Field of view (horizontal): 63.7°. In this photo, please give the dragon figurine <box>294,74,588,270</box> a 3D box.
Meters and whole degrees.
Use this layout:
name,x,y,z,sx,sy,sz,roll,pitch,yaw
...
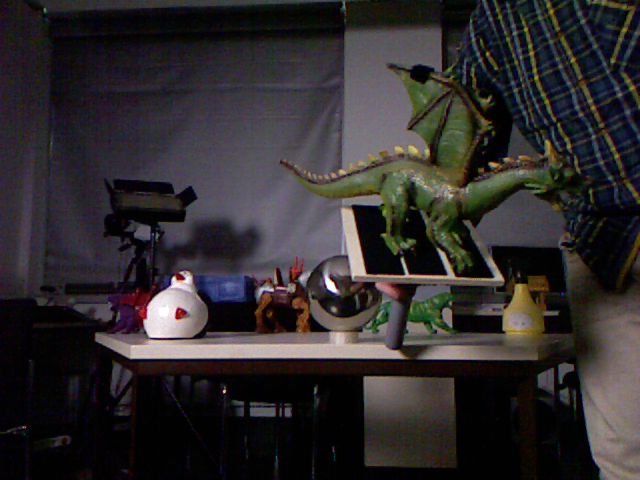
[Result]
name,x,y,z,sx,sy,sz,roll,pitch,yaw
dragon figurine,0.136,-0.109,0.699,0.412,0.237,0.124,22,38,21
